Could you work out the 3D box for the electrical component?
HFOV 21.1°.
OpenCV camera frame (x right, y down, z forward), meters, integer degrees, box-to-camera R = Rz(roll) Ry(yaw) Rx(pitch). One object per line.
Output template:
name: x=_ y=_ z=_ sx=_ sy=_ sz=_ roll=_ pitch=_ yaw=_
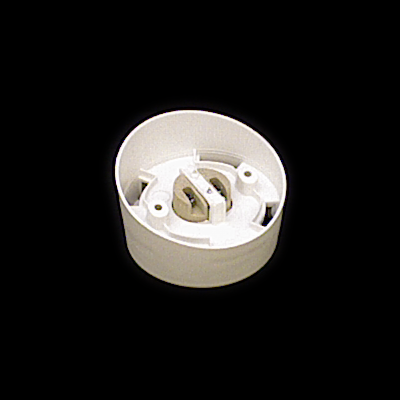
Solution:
electrical component: x=0.000 y=0.000 z=0.629 sx=0.099 sy=0.065 sz=0.098 roll=0 pitch=41 yaw=0
